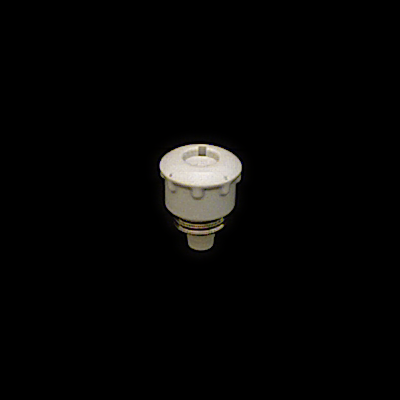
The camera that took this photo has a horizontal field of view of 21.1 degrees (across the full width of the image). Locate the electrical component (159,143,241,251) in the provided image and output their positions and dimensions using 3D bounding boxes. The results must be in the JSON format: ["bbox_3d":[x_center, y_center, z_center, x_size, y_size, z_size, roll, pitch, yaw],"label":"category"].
[{"bbox_3d":[0.000,0.000,0.641,0.048,0.063,0.047,1,32,0],"label":"electrical component"}]
